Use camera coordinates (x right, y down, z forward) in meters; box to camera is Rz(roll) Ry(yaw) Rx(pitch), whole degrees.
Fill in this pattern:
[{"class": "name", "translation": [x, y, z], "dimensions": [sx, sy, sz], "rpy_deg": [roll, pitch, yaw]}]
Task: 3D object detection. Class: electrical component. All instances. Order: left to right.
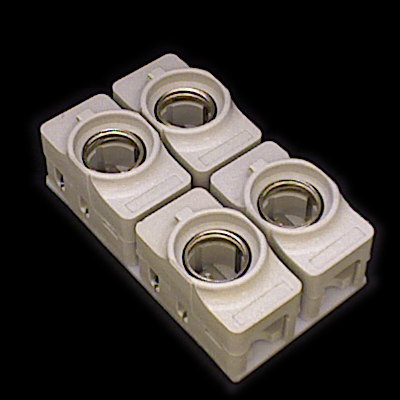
[{"class": "electrical component", "translation": [0.000, 0.000, 0.627], "dimensions": [0.106, 0.185, 0.060], "rpy_deg": [-33, -31, -23]}]
